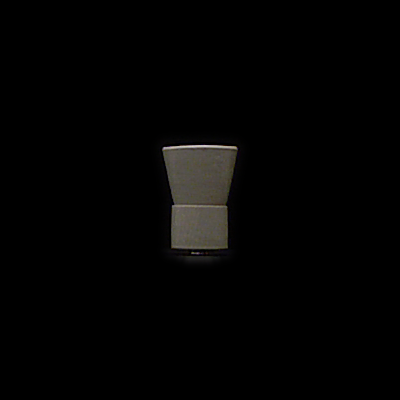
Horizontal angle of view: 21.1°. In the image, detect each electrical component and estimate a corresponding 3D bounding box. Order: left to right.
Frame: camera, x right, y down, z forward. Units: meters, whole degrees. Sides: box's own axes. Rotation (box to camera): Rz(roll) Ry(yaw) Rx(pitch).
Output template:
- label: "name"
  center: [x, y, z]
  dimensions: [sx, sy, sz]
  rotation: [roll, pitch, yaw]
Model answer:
- label: "electrical component"
  center: [0.000, 0.000, 0.647]
  dimensions: [0.044, 0.065, 0.044]
  rotation: [1, 2, 0]
